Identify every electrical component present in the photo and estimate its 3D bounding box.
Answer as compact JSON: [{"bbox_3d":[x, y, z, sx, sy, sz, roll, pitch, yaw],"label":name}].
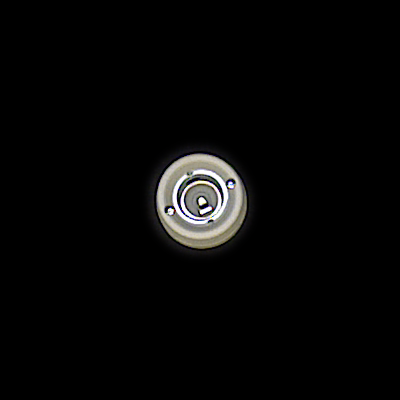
[{"bbox_3d":[0.000,0.000,0.634,0.055,0.055,0.047,0,-7,2],"label":"electrical component"}]
